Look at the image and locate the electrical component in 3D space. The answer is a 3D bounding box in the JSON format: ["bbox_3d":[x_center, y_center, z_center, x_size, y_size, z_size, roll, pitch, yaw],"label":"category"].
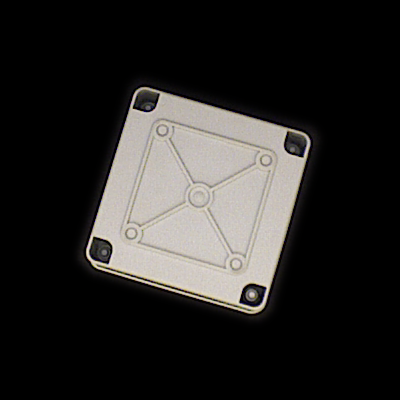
[{"bbox_3d":[0.000,0.000,0.628,0.109,0.109,0.056,16,-6,2],"label":"electrical component"}]
